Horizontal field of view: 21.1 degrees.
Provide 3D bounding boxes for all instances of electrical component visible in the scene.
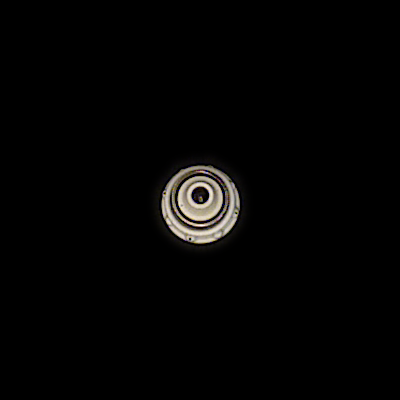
[{"bbox_3d":[0.000,0.000,0.635,0.048,0.048,0.061,0,-6,0],"label":"electrical component"}]
